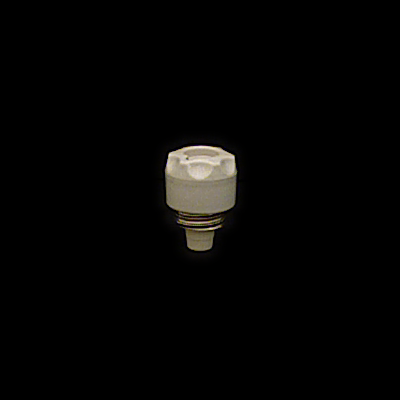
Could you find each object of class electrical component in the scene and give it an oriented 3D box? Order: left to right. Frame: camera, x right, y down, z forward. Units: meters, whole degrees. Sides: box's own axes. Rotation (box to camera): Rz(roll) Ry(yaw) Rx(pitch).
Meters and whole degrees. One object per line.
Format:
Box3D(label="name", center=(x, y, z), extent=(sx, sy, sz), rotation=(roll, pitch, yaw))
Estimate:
Box3D(label="electrical component", center=(0.000, 0.000, 0.647), extent=(0.043, 0.063, 0.043), rotation=(1, 21, 0))
